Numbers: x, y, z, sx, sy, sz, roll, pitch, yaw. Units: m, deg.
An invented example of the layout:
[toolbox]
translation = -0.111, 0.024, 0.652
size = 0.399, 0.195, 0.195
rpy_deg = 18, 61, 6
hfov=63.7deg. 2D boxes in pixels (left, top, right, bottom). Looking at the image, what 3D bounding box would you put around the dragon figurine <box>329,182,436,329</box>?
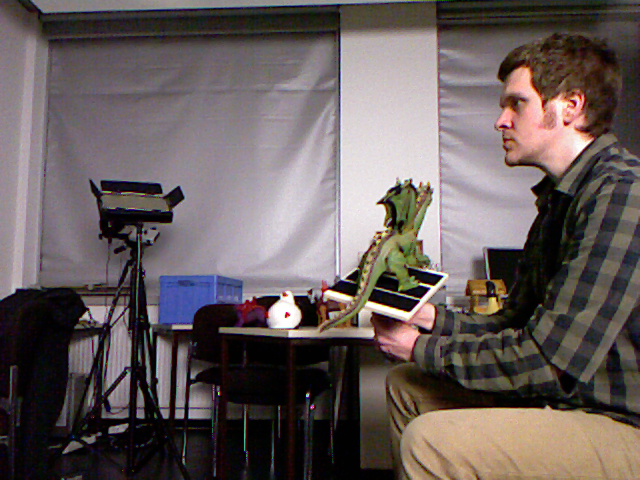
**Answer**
[dragon figurine]
translation = 0.143, -0.006, 1.072
size = 0.123, 0.238, 0.418
rpy_deg = 17, 34, 30
